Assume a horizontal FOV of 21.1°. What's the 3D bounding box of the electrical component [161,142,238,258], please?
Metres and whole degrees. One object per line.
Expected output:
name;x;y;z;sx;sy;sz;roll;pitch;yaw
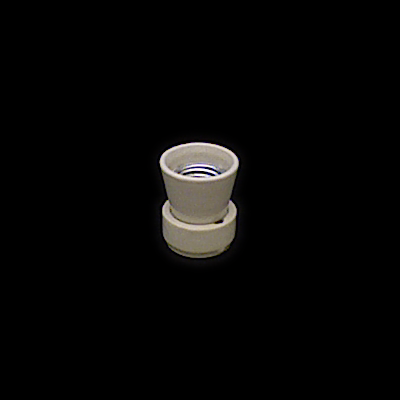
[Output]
electrical component;0.000;0.000;0.633;0.045;0.056;0.044;0;32;0
